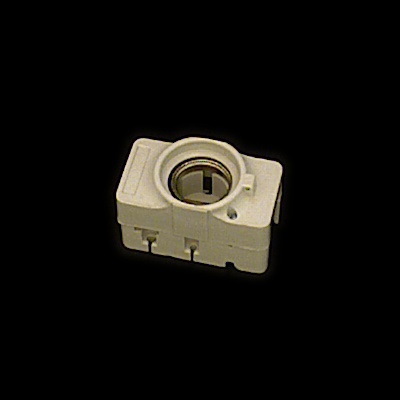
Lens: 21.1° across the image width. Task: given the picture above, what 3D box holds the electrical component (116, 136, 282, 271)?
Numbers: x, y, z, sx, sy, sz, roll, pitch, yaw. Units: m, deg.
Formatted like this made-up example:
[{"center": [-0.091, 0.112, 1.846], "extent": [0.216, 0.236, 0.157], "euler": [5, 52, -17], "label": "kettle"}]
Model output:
[{"center": [0.000, 0.000, 0.637], "extent": [0.089, 0.050, 0.056], "euler": [10, -36, 7], "label": "electrical component"}]
